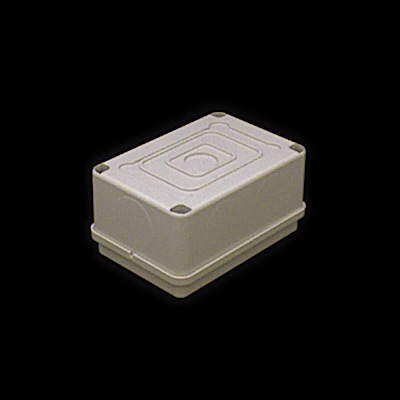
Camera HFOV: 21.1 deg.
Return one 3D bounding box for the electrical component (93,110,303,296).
[{"bbox_3d":[0.000,0.000,0.634,0.077,0.058,0.113,27,40,35],"label":"electrical component"}]
